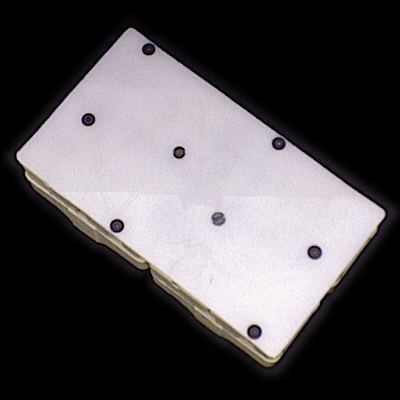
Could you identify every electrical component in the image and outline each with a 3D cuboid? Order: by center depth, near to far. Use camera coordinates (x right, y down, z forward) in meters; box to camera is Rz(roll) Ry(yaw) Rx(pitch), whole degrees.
[{"bbox_3d":[0.000,0.000,0.625,0.186,0.106,0.060,37,-13,10],"label":"electrical component"}]
